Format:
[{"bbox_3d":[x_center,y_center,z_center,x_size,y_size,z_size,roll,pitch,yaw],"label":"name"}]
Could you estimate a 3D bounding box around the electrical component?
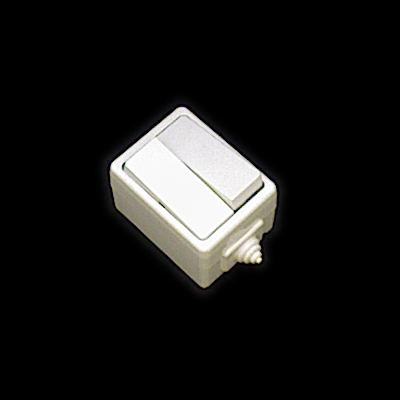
[{"bbox_3d":[0.000,0.000,0.626,0.062,0.096,0.060,-41,-21,-19],"label":"electrical component"}]
